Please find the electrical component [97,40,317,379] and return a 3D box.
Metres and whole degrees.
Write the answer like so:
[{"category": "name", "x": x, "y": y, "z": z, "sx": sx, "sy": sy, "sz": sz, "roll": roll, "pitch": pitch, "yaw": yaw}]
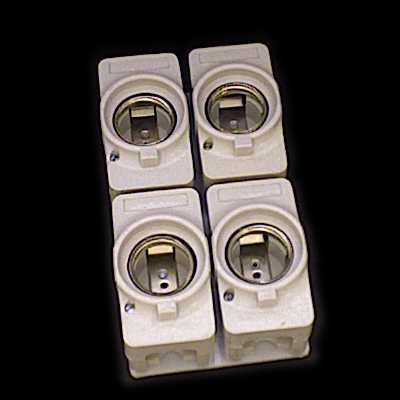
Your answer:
[{"category": "electrical component", "x": 0.000, "y": 0.000, "z": 0.625, "sx": 0.105, "sy": 0.186, "sz": 0.060, "roll": -6, "pitch": -27, "yaw": -4}]
